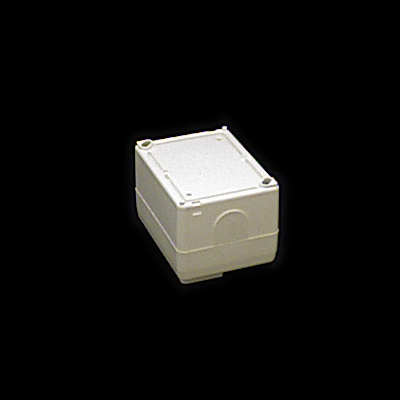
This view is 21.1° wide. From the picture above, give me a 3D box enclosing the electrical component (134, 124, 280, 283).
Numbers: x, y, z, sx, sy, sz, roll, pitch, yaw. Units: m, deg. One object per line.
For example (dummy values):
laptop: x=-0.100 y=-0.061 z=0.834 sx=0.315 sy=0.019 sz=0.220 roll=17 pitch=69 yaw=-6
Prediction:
electrical component: x=0.000 y=0.000 z=0.639 sx=0.062 sy=0.062 sz=0.094 roll=-12 pitch=34 yaw=-19
